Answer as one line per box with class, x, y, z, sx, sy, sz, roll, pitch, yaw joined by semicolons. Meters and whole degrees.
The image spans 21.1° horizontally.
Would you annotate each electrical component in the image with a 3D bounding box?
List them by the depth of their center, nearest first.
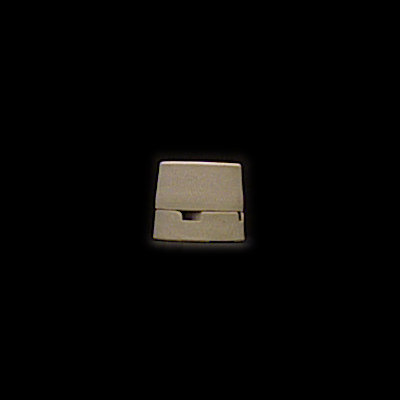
electrical component;0.000;0.000;0.648;0.055;0.047;0.055;1;2;0
